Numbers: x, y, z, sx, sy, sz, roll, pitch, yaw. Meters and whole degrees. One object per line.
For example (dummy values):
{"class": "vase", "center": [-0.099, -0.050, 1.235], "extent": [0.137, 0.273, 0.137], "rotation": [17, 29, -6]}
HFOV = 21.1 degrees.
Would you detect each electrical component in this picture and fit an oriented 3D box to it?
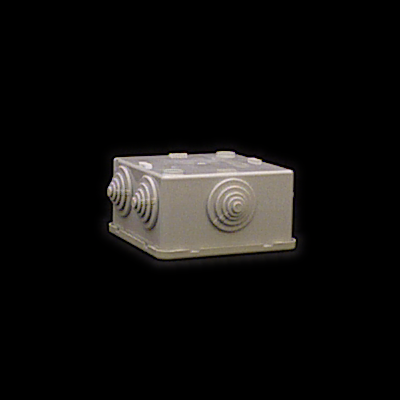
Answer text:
{"class": "electrical component", "center": [0.000, 0.000, 0.646], "extent": [0.100, 0.049, 0.099], "rotation": [-3, 11, -24]}
